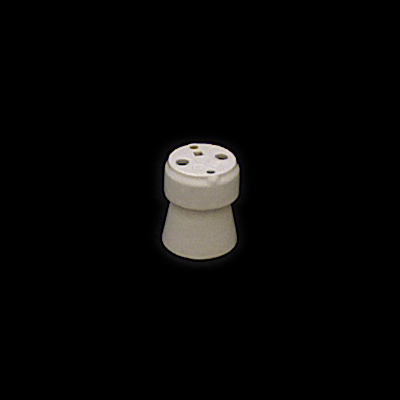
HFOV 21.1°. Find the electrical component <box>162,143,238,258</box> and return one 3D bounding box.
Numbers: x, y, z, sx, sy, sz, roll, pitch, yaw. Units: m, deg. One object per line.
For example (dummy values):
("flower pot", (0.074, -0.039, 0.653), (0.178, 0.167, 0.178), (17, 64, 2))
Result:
("electrical component", (0.000, 0.000, 0.636), (0.045, 0.056, 0.044), (1, 32, -1))
